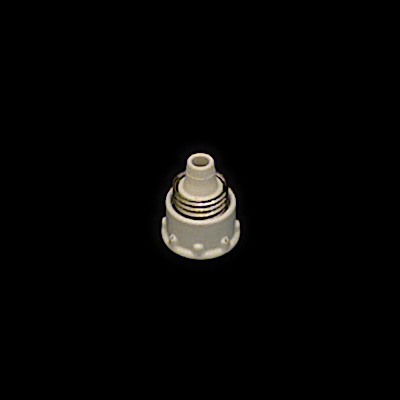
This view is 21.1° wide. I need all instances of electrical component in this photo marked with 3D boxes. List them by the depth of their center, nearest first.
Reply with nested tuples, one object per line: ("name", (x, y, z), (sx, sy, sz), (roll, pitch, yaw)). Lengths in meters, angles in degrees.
("electrical component", (0.000, 0.000, 0.638), (0.048, 0.062, 0.047), (1, 41, 0))
